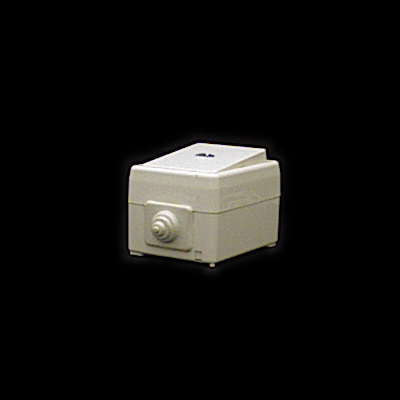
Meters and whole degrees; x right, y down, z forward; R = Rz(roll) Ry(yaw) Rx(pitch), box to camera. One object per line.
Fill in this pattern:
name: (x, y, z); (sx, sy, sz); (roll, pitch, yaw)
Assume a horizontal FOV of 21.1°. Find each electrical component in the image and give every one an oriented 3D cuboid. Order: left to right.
electrical component: (0.000, 0.000, 0.642); (0.061, 0.061, 0.096); (8, 12, 31)
